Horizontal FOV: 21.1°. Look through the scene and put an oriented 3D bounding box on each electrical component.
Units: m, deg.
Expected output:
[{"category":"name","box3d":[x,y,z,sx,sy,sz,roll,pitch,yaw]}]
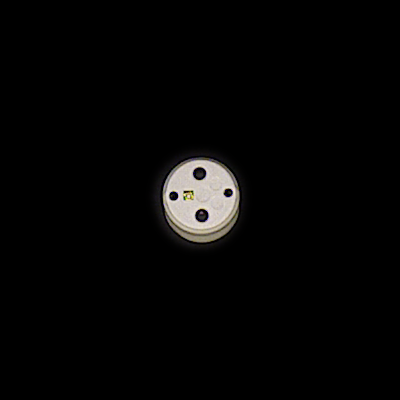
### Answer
[{"category":"electrical component","box3d":[0.000,0.000,0.630,0.045,0.045,0.055,0,-7,0]}]
